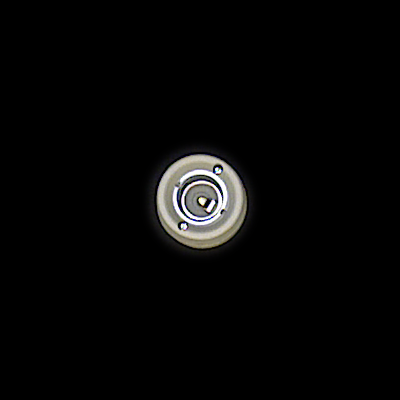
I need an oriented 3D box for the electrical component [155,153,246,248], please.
[{"bbox_3d":[0.000,0.000,0.633,0.055,0.055,0.047,0,-6,1],"label":"electrical component"}]
